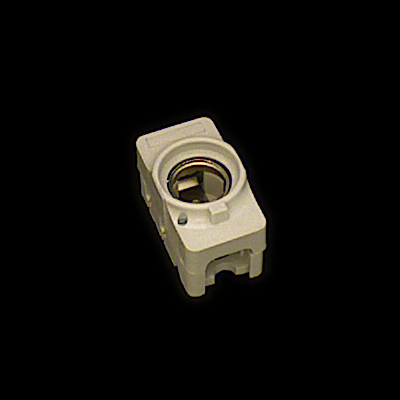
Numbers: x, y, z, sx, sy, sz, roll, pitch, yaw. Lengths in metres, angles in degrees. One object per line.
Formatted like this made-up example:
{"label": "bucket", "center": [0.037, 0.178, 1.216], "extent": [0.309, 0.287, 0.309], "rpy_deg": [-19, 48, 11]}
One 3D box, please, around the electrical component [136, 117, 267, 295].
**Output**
{"label": "electrical component", "center": [0.000, 0.000, 0.637], "extent": [0.050, 0.089, 0.056], "rpy_deg": [-18, -35, -13]}
